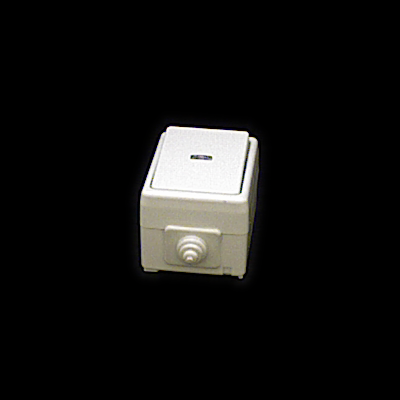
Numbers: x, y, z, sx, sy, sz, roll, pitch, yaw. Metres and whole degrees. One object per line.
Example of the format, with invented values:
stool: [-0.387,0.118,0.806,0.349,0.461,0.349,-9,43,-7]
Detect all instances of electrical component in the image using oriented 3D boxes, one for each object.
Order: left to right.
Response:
electrical component: [0.000,0.000,0.632,0.062,0.061,0.095,4,31,5]
